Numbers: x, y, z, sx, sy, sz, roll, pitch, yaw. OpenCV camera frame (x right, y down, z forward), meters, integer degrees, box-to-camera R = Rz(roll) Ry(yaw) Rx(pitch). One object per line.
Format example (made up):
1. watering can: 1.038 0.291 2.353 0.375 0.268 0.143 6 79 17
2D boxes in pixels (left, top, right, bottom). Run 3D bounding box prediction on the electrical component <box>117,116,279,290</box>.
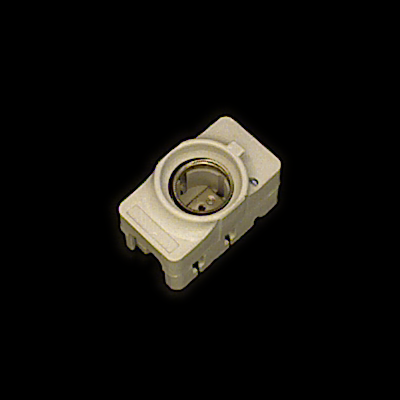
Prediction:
1. electrical component: 0.000 0.000 0.635 0.050 0.090 0.055 42 -19 19
